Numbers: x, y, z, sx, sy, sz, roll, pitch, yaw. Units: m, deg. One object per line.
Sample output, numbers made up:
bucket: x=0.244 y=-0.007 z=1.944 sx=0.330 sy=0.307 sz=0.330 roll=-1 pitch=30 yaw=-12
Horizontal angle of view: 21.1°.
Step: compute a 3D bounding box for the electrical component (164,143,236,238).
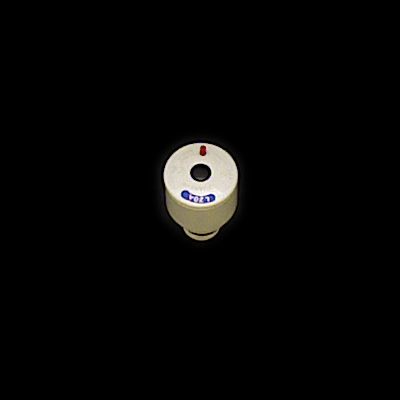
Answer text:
electrical component: x=0.000 y=0.000 z=0.619 sx=0.040 sy=0.040 sz=0.078 roll=0 pitch=-28 yaw=0
